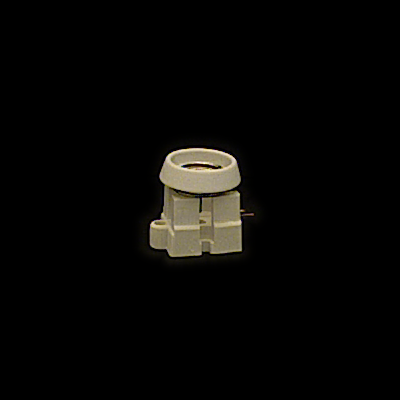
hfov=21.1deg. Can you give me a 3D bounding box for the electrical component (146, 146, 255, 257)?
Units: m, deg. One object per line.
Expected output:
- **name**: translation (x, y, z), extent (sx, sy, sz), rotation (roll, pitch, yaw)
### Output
- **electrical component**: translation (0.000, 0.000, 0.648), extent (0.067, 0.056, 0.047), rotation (-5, 25, -14)
